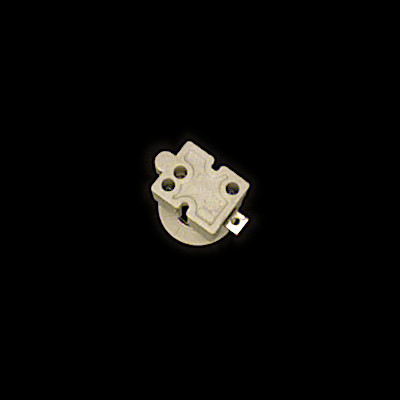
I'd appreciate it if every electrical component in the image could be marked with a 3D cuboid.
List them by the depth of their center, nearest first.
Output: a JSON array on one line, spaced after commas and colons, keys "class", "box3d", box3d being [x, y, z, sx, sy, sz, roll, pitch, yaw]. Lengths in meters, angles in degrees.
[{"class": "electrical component", "box3d": [0.000, 0.000, 0.637, 0.066, 0.049, 0.055, 36, -14, 9]}]
